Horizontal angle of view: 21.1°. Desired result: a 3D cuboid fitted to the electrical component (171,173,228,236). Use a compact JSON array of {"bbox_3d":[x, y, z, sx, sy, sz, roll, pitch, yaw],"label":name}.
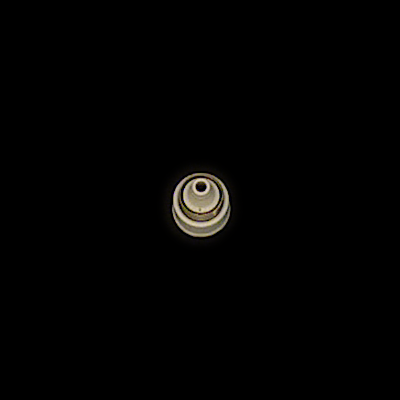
[{"bbox_3d":[0.000,0.000,0.637,0.035,0.035,0.061,0,-15,0],"label":"electrical component"}]
